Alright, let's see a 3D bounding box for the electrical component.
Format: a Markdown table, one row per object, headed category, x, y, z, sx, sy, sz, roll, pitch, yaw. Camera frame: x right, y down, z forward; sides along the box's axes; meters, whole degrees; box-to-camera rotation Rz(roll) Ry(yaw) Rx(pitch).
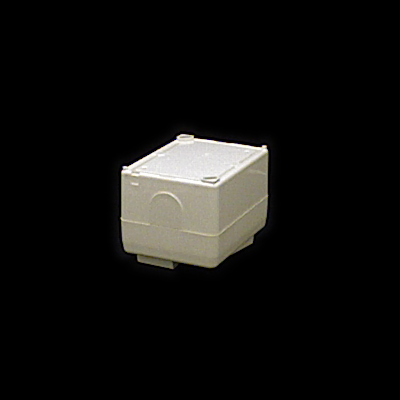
| category | x | y | z | sx | sy | sz | roll | pitch | yaw |
| --- | --- | --- | --- | --- | --- | --- | --- | --- | --- |
| electrical component | 0.001 | 0.000 | 0.646 | 0.061 | 0.062 | 0.095 | 10 | 23 | 24 |
